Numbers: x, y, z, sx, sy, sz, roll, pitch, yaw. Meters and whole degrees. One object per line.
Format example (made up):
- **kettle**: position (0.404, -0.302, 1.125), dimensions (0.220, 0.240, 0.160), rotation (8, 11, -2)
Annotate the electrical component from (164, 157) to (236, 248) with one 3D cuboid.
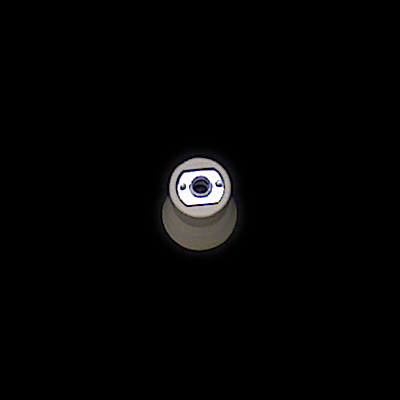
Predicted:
- **electrical component**: position (0.000, 0.000, 0.624), dimensions (0.044, 0.044, 0.065), rotation (0, -16, 0)
